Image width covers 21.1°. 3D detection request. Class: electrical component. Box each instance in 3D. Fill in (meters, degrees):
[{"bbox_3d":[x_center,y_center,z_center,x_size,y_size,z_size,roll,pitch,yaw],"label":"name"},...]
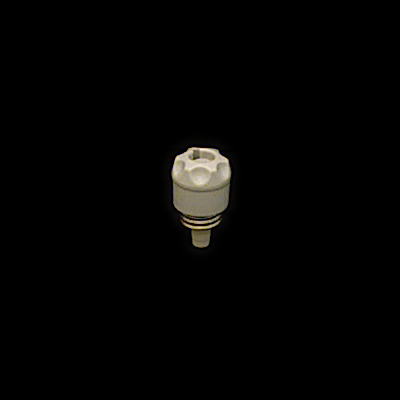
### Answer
[{"bbox_3d":[0.000,0.000,0.643,0.035,0.062,0.034,1,32,0],"label":"electrical component"}]
